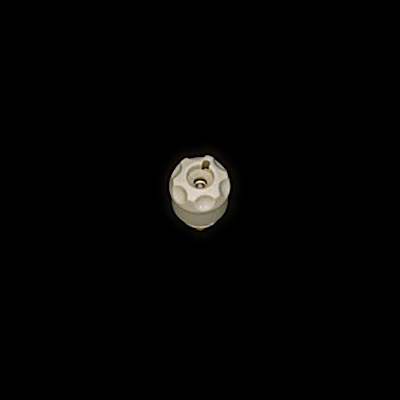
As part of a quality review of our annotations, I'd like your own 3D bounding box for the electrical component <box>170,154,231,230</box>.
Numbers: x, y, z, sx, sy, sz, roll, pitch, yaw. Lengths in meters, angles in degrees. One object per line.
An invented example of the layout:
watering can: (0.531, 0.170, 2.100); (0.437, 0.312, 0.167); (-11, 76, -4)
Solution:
electrical component: (0.000, 0.000, 0.635); (0.035, 0.035, 0.061); (0, -27, 0)
